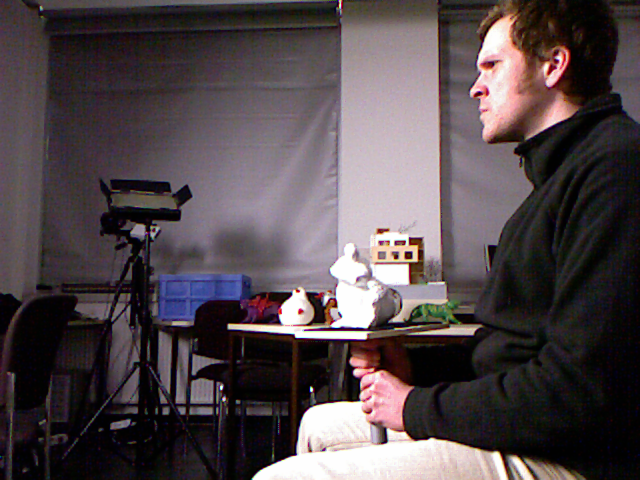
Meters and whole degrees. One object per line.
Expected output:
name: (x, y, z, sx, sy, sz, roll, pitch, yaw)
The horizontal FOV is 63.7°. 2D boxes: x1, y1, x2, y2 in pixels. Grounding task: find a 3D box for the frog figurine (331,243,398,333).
frog figurine: (0.077, 0.085, 0.947, 0.123, 0.160, 0.137, -3, -1, -19)
